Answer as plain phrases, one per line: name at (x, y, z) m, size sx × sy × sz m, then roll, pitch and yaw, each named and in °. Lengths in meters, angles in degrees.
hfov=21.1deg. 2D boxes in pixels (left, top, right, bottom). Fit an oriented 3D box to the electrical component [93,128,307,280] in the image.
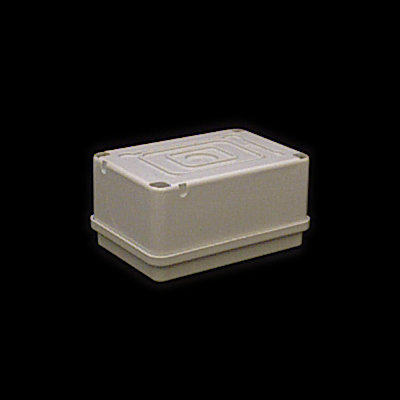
electrical component at (0.000, 0.000, 0.640) m, size 0.113 × 0.058 × 0.077 m, roll -12°, pitch 24°, yaw -32°
